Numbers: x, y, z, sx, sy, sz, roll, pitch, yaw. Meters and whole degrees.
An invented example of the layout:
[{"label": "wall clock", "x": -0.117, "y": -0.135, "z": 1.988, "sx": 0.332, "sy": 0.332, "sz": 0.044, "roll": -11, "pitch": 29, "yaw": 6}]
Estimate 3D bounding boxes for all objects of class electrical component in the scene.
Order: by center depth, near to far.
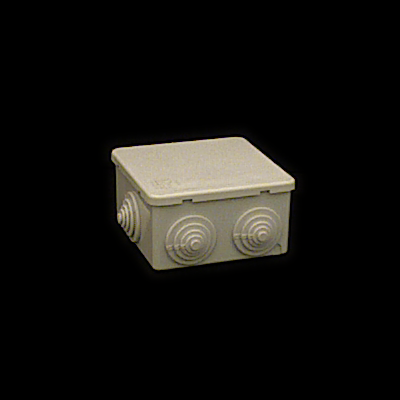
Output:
[{"label": "electrical component", "x": 0.000, "y": 0.000, "z": 0.646, "sx": 0.100, "sy": 0.049, "sz": 0.098, "roll": -6, "pitch": 23, "yaw": -19}]
